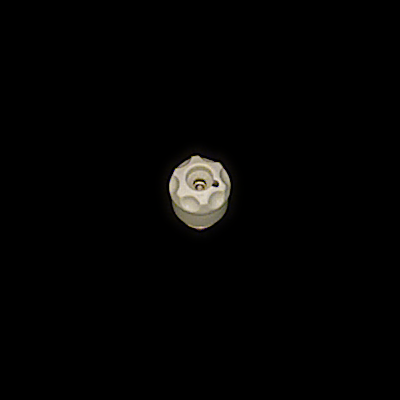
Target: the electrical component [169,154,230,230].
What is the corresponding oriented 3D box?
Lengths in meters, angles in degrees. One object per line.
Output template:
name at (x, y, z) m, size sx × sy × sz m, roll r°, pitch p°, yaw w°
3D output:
electrical component at (0.000, 0.000, 0.633) m, size 0.035 × 0.035 × 0.061 m, roll 0°, pitch -26°, yaw 0°
